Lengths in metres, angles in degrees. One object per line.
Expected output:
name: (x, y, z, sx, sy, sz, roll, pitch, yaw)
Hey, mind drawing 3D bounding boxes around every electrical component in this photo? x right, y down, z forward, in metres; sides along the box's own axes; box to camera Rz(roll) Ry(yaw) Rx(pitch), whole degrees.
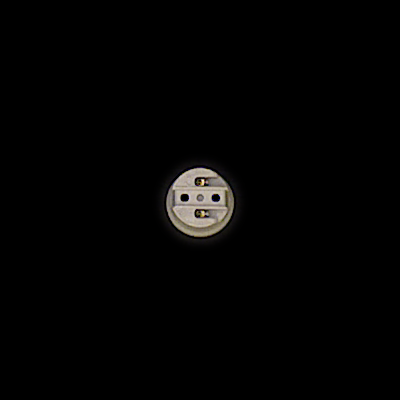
electrical component: (0.000, 0.000, 0.634, 0.040, 0.040, 0.046, 0, -6, 0)
